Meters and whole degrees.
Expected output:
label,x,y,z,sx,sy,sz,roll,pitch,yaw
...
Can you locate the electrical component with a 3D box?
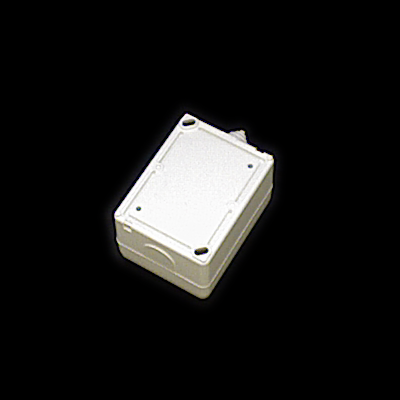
label,x,y,z,sx,sy,sz,roll,pitch,yaw
electrical component,0.000,0.000,0.630,0.061,0.096,0.061,27,-24,14
